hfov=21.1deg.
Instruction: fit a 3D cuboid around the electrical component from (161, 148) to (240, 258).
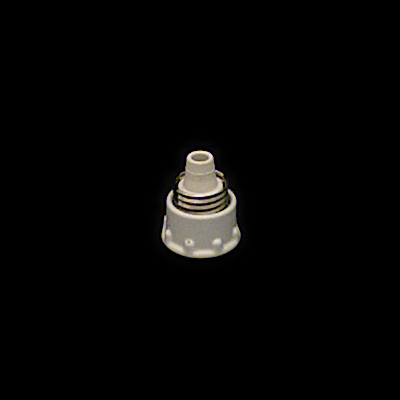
[{"bbox_3d":[0.000,0.000,0.639,0.048,0.063,0.047,0,33,1],"label":"electrical component"}]
